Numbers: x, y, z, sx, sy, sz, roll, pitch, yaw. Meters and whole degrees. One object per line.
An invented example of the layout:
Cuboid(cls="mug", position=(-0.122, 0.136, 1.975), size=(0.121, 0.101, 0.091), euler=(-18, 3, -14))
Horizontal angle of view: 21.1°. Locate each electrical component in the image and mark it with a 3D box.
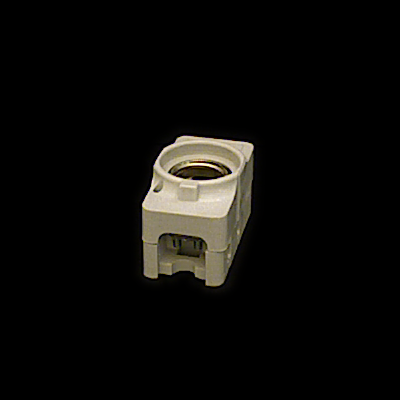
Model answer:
Cuboid(cls="electrical component", position=(0.000, 0.000, 0.642), size=(0.050, 0.056, 0.089), euler=(7, 32, 10))
